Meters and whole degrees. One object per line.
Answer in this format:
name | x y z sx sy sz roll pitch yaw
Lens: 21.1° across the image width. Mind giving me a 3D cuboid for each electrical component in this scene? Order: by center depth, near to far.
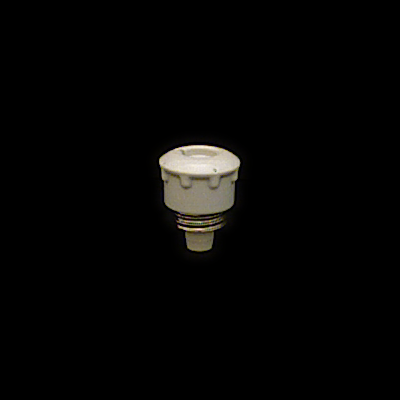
electrical component | 0.000 0.000 0.643 0.048 0.062 0.047 1 21 0
